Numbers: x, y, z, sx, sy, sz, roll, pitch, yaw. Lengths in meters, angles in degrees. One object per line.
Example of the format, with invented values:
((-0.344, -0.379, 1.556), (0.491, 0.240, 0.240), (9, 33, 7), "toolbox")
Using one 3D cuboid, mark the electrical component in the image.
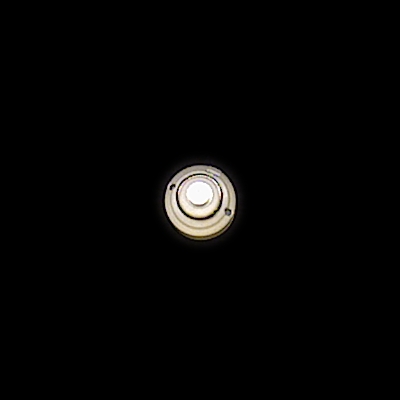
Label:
((0.000, 0.000, 0.618), (0.040, 0.040, 0.078), (0, -6, 1), "electrical component")
